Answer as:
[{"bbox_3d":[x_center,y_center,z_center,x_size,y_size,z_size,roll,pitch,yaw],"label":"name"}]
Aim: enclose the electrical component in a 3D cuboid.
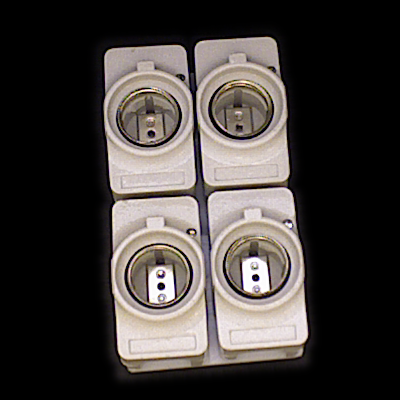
[{"bbox_3d":[0.000,0.000,0.625,0.105,0.187,0.060,-4,-17,-1],"label":"electrical component"}]
